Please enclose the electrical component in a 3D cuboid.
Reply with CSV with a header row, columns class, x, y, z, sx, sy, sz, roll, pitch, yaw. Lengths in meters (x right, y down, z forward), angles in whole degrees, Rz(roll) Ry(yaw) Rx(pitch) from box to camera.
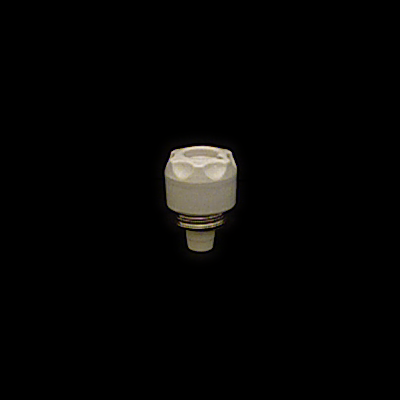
class,x,y,z,sx,sy,sz,roll,pitch,yaw
electrical component,0.000,0.000,0.646,0.043,0.063,0.043,0,22,1
